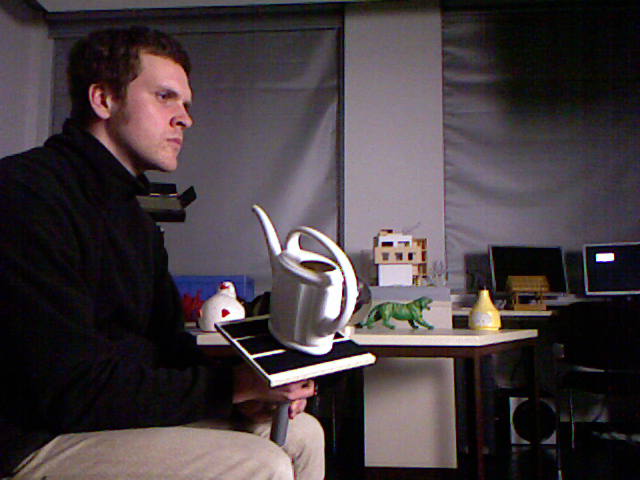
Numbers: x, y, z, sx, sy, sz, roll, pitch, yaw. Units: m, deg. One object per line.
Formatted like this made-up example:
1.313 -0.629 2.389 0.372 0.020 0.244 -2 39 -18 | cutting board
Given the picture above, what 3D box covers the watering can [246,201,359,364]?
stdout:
-0.048 0.069 0.897 0.104 0.221 0.352 -3 22 -34 | watering can
